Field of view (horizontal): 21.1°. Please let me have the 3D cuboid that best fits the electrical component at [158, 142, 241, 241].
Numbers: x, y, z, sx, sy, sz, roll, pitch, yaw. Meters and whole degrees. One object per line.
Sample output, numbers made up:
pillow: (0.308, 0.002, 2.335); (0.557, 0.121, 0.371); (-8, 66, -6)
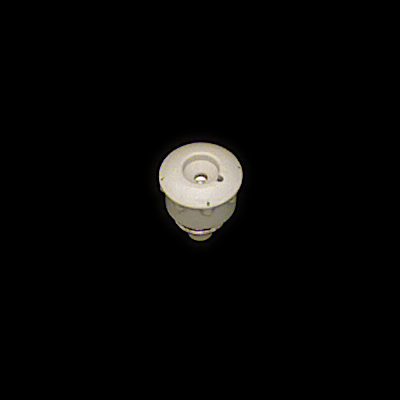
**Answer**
electrical component: (0.000, 0.000, 0.636); (0.048, 0.048, 0.062); (0, -37, 0)
